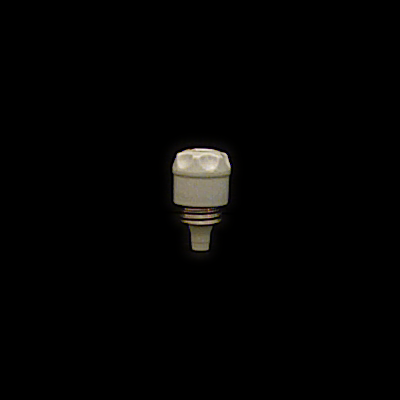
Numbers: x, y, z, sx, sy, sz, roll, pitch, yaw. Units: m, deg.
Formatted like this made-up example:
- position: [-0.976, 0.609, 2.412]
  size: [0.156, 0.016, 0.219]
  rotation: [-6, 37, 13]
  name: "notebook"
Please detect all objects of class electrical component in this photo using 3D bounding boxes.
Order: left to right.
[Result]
- position: [0.000, 0.000, 0.654]
  size: [0.035, 0.062, 0.035]
  rotation: [1, 12, 0]
  name: "electrical component"
